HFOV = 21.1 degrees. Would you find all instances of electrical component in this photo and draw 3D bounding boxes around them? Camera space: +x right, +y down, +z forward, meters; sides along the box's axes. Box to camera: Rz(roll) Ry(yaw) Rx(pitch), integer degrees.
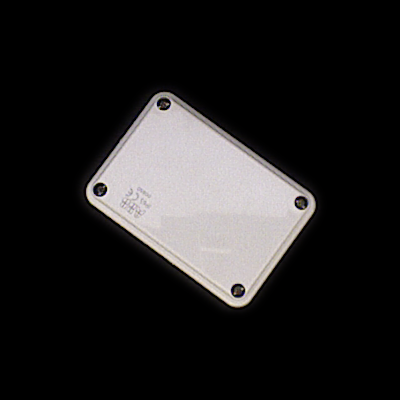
[{"bbox_3d":[0.000,0.000,0.628,0.113,0.078,0.057,36,-5,4],"label":"electrical component"}]
